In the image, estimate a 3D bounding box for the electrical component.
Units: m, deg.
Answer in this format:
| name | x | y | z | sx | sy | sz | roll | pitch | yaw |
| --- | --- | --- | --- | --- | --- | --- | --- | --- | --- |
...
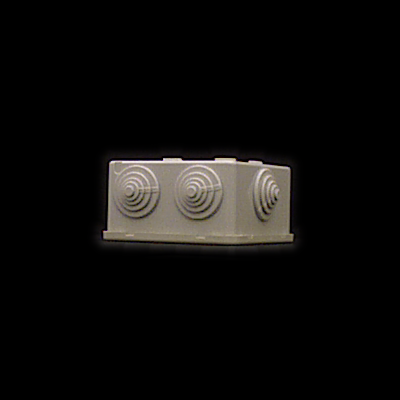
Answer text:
| name | x | y | z | sx | sy | sz | roll | pitch | yaw |
| --- | --- | --- | --- | --- | --- | --- | --- | --- | --- |
| electrical component | 0.000 | 0.000 | 0.650 | 0.099 | 0.048 | 0.100 | 1 | 0 | 28 |
